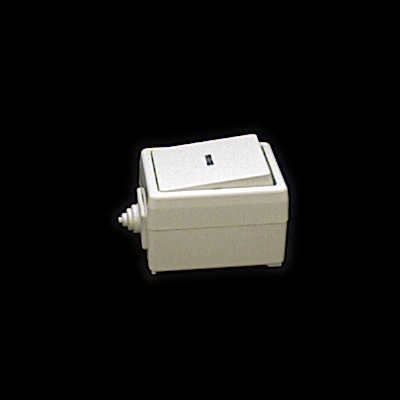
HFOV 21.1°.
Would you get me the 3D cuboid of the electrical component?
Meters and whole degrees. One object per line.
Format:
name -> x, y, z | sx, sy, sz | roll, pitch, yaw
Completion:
electrical component -> 0.000, 0.000, 0.634 | 0.096, 0.061, 0.061 | -3, 31, -7
